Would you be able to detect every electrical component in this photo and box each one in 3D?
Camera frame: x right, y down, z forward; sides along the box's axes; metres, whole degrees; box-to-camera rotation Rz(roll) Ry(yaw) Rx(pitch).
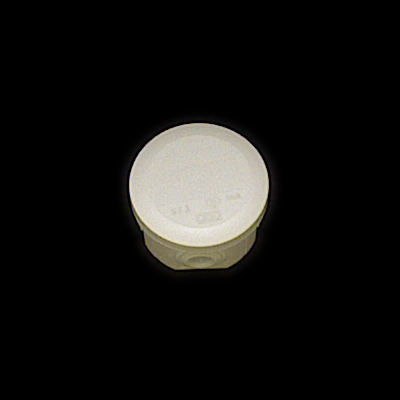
[{"bbox_3d":[0.000,0.000,0.629,0.080,0.080,0.050,0,-27,0],"label":"electrical component"}]
